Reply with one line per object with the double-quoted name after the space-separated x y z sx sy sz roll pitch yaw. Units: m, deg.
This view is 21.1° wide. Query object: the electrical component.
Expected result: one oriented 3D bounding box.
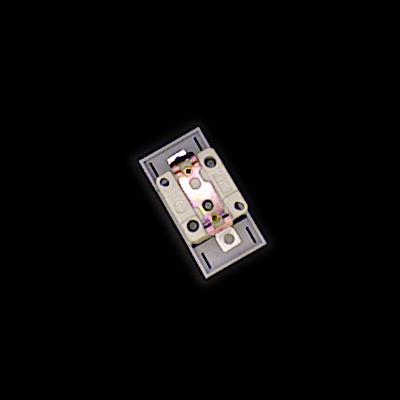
0.000 0.000 0.626 0.042 0.081 0.063 -30 -6 -2 "electrical component"
